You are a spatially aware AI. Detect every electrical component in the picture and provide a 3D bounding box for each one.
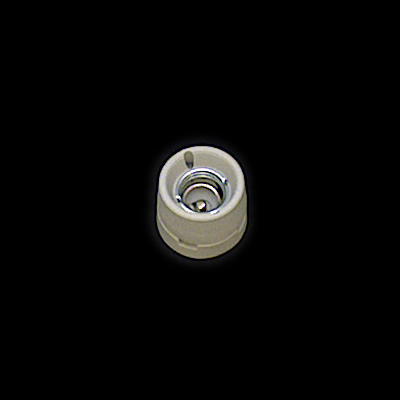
[{"bbox_3d":[0.000,0.000,0.633,0.055,0.055,0.047,0,-28,0],"label":"electrical component"}]
